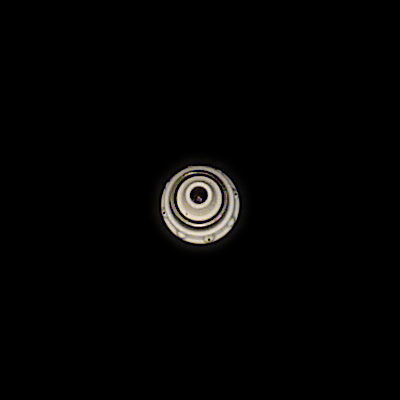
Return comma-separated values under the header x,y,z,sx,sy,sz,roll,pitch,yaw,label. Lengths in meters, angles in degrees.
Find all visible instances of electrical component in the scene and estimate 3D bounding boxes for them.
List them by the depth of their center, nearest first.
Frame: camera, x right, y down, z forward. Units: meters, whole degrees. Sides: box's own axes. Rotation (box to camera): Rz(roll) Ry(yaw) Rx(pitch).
x,y,z,sx,sy,sz,roll,pitch,yaw,label
0.000,0.000,0.635,0.048,0.048,0.061,0,-6,0,electrical component
